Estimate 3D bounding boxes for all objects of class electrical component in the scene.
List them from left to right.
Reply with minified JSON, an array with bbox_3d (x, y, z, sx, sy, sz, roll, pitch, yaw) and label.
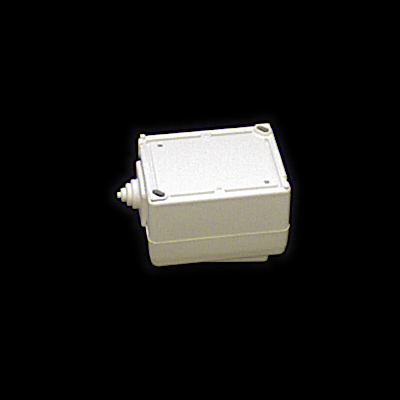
[{"bbox_3d":[0.000,0.000,0.628,0.096,0.061,0.061,-5,42,-7],"label":"electrical component"}]
